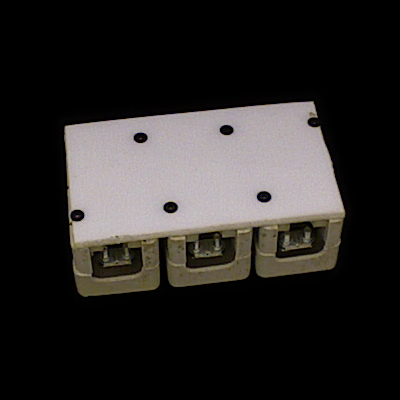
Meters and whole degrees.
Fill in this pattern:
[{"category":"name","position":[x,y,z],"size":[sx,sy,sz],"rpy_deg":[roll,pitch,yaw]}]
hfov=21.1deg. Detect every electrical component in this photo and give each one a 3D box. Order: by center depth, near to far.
[{"category":"electrical component","position":[0.000,0.000,0.631],"size":[0.150,0.088,0.062],"rpy_deg":[-6,-38,-5]}]
